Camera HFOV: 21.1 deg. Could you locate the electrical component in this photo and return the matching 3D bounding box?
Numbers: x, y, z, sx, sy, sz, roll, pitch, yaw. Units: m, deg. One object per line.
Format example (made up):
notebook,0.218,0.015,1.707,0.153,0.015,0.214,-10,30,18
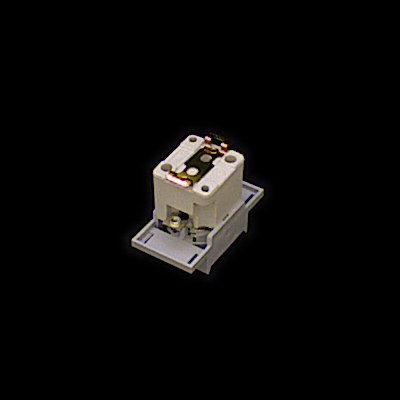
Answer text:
electrical component,0.000,0.000,0.629,0.042,0.064,0.080,23,47,23
